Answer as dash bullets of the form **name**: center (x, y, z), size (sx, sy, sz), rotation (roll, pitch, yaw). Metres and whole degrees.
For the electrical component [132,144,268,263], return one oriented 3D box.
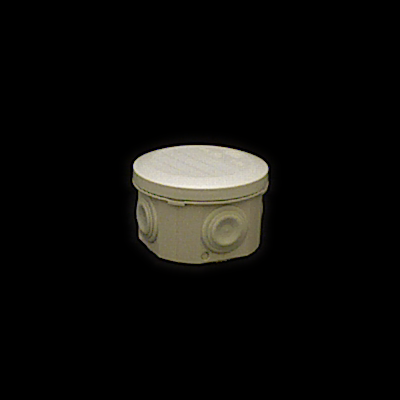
- **electrical component**: center (0.000, 0.000, 0.638), size (0.080, 0.051, 0.079), rotation (1, 21, 0)
